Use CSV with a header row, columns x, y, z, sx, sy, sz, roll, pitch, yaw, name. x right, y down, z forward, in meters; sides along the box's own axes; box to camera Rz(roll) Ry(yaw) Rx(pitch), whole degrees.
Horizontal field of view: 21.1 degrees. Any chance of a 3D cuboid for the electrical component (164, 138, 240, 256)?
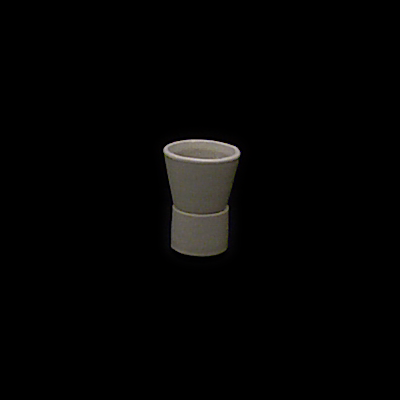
x,y,z,sx,sy,sz,roll,pitch,yaw,name
0.000,0.000,0.640,0.044,0.066,0.044,1,20,0,electrical component
